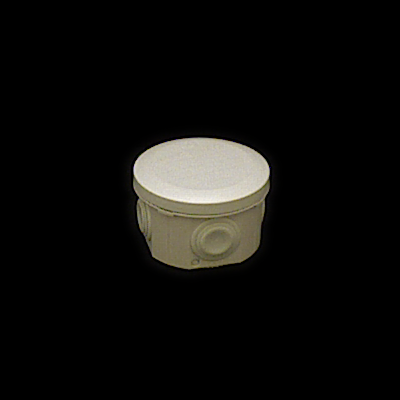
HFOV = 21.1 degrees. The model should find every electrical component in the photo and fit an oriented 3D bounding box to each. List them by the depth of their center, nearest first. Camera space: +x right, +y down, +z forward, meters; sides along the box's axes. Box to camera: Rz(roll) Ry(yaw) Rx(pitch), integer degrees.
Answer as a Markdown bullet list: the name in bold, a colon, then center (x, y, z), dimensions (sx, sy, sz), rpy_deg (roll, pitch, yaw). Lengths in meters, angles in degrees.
- **electrical component**: center (0.000, 0.000, 0.638), dimensions (0.080, 0.051, 0.079), rpy_deg (1, 31, 0)
